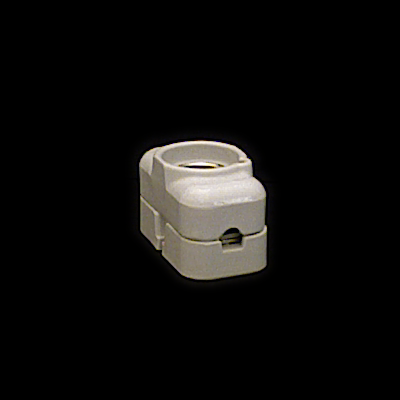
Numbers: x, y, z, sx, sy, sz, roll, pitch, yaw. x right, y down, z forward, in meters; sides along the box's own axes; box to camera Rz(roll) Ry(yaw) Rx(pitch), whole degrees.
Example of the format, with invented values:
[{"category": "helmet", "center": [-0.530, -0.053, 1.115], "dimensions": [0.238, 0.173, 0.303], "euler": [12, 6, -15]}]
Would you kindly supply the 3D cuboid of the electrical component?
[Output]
[{"category": "electrical component", "center": [0.000, 0.000, 0.646], "dimensions": [0.054, 0.060, 0.093], "euler": [-9, 24, -22]}]
